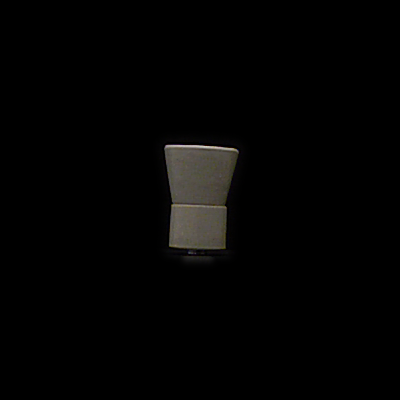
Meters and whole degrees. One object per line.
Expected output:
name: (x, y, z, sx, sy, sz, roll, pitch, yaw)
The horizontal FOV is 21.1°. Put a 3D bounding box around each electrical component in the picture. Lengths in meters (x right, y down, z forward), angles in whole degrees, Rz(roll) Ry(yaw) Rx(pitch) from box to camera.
electrical component: (0.000, 0.000, 0.650, 0.044, 0.065, 0.044, 2, 1, 0)
